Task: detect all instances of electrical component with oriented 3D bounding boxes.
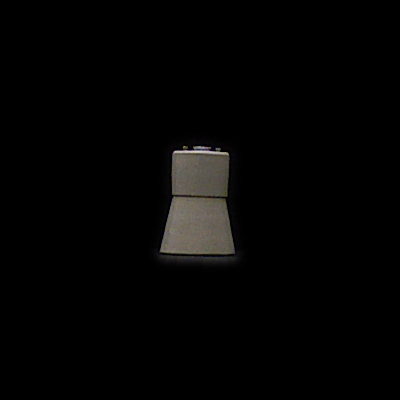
[{"bbox_3d":[0.000,0.000,0.648,0.044,0.065,0.044,2,2,0],"label":"electrical component"}]
